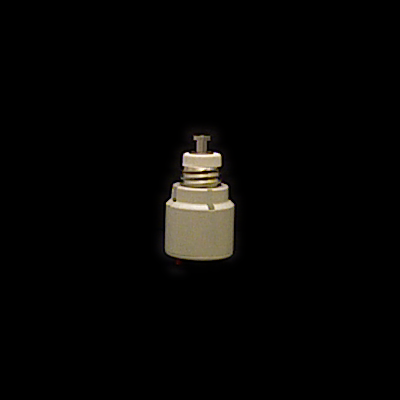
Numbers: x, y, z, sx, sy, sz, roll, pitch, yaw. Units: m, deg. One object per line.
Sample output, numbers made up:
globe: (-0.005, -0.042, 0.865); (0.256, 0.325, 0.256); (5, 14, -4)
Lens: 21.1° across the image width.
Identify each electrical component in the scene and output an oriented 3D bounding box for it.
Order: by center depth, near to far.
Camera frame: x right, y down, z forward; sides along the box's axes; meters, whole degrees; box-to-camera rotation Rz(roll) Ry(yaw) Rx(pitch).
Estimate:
electrical component: (0.000, 0.000, 0.644); (0.040, 0.079, 0.040); (2, 12, 0)
